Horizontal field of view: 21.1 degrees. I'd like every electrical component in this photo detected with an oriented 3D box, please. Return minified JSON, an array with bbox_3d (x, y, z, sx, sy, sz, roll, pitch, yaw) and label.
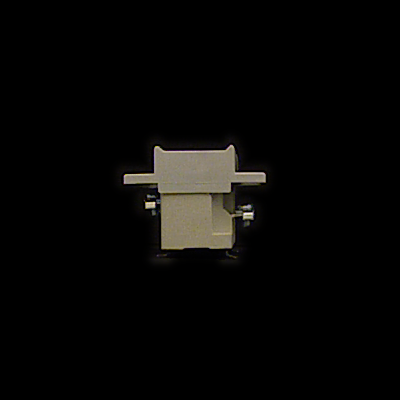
[{"bbox_3d":[0.000,0.000,0.661,0.079,0.063,0.121,0,1,3],"label":"electrical component"}]
